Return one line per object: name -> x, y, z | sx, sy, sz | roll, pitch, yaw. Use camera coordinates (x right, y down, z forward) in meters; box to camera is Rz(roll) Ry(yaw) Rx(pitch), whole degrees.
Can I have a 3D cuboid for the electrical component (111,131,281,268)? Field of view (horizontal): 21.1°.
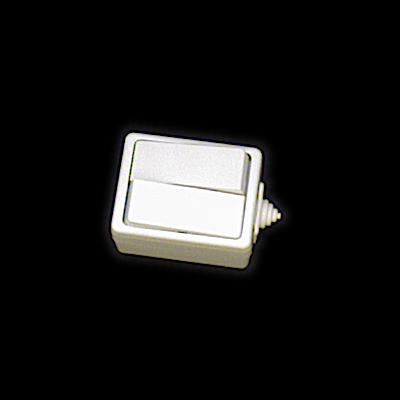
electrical component -> 0.000, 0.000, 0.626 | 0.096, 0.062, 0.060 | 8, -17, 2
